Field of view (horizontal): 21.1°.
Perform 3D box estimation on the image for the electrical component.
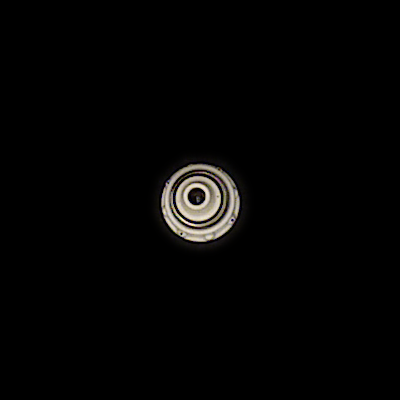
[{"bbox_3d":[0.000,0.000,0.634,0.048,0.048,0.062,0,-5,2],"label":"electrical component"}]
